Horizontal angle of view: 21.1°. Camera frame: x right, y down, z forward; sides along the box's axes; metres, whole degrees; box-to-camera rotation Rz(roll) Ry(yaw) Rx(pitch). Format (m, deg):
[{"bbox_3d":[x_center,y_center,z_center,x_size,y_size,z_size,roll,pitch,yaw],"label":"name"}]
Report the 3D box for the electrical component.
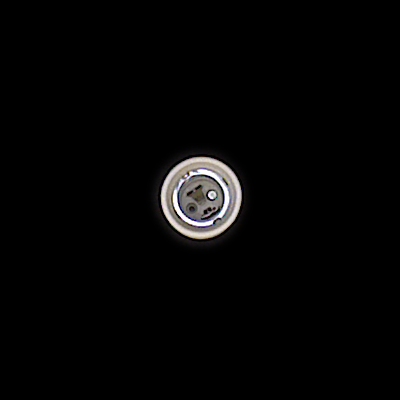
[{"bbox_3d":[0.000,0.000,0.629,0.045,0.045,0.055,0,-5,0],"label":"electrical component"}]
